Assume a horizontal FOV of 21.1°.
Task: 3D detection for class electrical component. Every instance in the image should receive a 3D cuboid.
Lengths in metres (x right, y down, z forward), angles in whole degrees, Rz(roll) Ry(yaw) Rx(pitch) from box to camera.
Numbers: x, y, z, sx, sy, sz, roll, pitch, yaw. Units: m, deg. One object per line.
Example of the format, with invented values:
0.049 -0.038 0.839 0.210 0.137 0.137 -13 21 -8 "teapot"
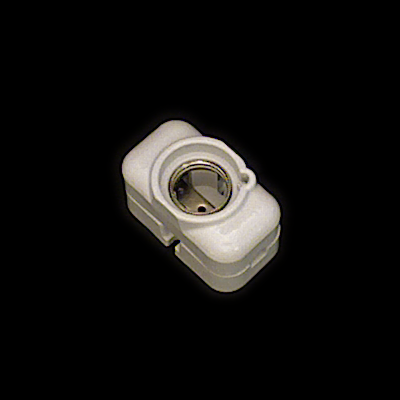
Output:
0.000 0.000 0.634 0.095 0.054 0.059 42 -19 18 "electrical component"
